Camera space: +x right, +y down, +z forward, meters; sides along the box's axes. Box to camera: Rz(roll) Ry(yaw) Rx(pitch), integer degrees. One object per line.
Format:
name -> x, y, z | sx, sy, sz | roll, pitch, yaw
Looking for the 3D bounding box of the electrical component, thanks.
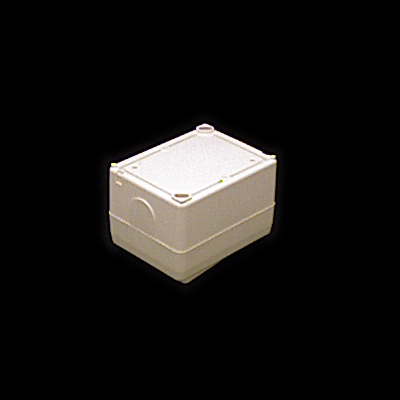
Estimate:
electrical component -> 0.000, 0.000, 0.634 | 0.061, 0.061, 0.096 | 28, 40, 37
